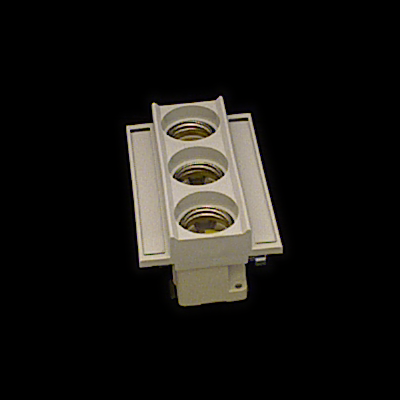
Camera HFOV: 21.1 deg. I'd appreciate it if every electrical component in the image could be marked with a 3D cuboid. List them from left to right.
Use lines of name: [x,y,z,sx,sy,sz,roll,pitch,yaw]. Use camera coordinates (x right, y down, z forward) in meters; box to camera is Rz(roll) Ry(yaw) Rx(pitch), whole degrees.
electrical component: [0.000,0.000,0.641,0.079,0.063,0.120,-5,43,-4]
